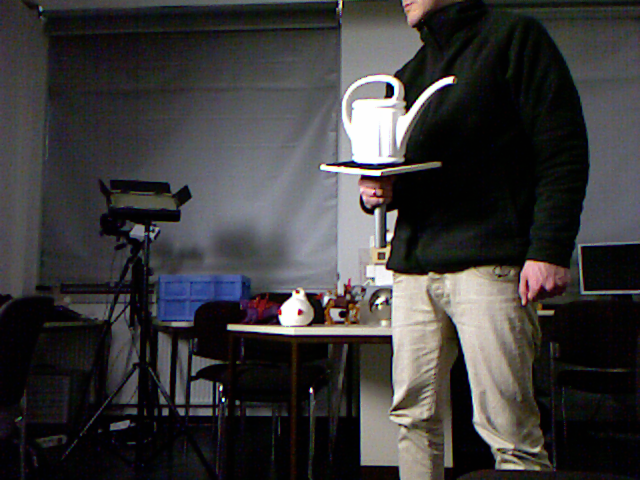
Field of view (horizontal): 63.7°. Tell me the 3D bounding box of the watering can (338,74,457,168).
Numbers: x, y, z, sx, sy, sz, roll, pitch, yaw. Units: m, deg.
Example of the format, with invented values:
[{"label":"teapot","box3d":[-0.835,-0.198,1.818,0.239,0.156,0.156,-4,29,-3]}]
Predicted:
[{"label":"watering can","box3d":[0.163,-0.266,1.177,0.105,0.222,0.350,-17,20,-36]}]
